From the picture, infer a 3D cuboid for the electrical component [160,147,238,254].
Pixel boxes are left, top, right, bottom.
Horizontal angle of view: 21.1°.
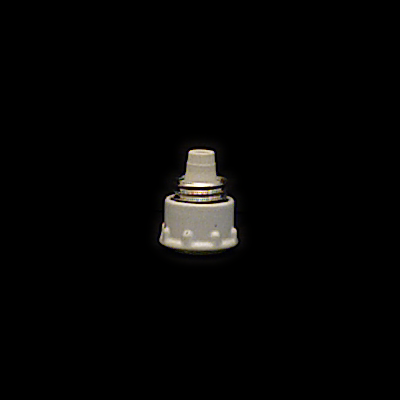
[{"bbox_3d":[0.000,0.000,0.650,0.048,0.062,0.048,2,13,0],"label":"electrical component"}]
